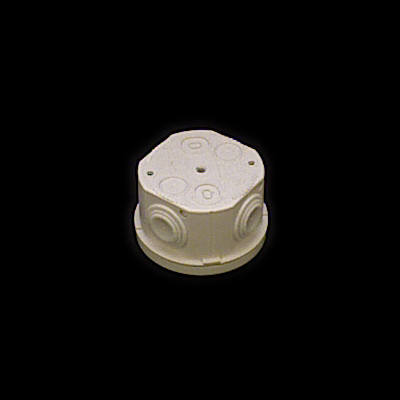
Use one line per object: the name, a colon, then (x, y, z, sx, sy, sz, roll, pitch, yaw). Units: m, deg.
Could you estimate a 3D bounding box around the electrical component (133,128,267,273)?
electrical component: (0.000, 0.000, 0.634, 0.080, 0.051, 0.080, 0, 42, 0)
